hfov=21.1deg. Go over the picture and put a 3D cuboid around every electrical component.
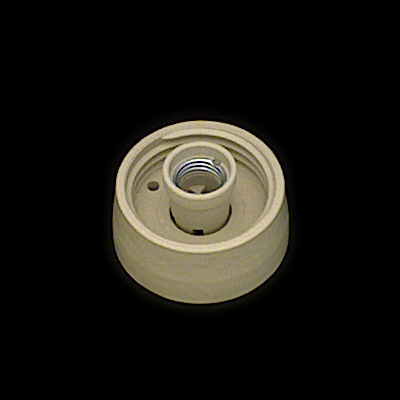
[{"bbox_3d":[0.000,0.000,0.636,0.108,0.107,0.060,0,-37,0],"label":"electrical component"}]
